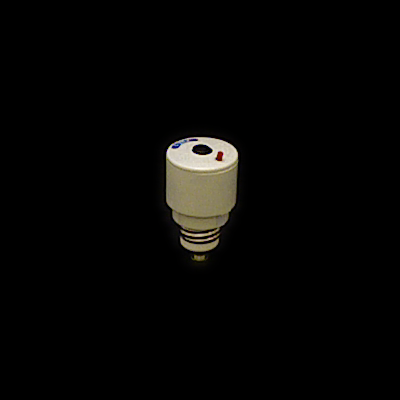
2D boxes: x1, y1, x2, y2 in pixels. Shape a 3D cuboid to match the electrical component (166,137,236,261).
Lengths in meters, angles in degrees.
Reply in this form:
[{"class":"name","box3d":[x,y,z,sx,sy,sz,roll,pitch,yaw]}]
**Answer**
[{"class":"electrical component","box3d":[0.000,0.000,0.627,0.040,0.079,0.039,1,31,-1]}]
